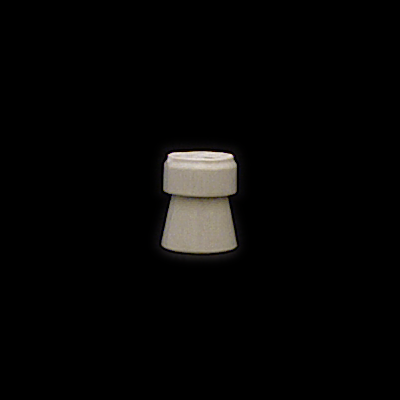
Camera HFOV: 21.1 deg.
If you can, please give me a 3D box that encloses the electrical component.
[{"bbox_3d":[0.000,0.000,0.646,0.045,0.055,0.044,1,11,0],"label":"electrical component"}]
